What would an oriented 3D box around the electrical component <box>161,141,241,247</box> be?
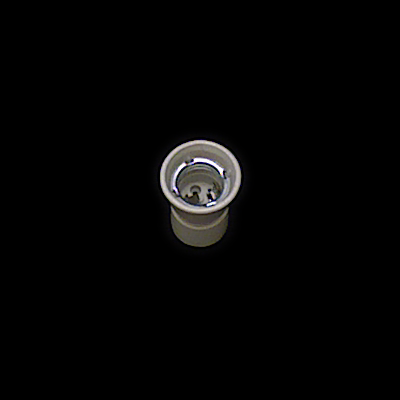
[{"bbox_3d":[0.000,0.000,0.624,0.044,0.044,0.065,0,-26,-1],"label":"electrical component"}]
